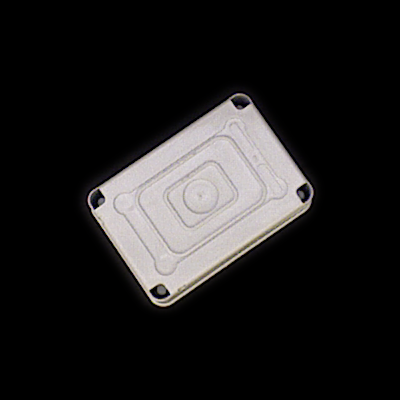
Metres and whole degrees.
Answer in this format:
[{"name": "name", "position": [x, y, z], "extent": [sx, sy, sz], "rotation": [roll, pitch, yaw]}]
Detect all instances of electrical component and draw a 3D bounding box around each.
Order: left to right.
[{"name": "electrical component", "position": [0.000, 0.000, 0.628], "extent": [0.113, 0.078, 0.057], "rotation": [-34, -6, -4]}]
